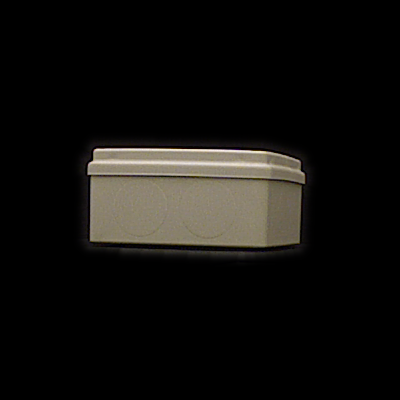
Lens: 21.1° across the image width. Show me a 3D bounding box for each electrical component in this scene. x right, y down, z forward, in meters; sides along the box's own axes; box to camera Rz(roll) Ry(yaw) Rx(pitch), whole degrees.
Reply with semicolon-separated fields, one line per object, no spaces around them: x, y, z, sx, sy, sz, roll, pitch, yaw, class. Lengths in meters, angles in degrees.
0.000;0.000;0.650;0.108;0.056;0.109;2;0;16;electrical component
